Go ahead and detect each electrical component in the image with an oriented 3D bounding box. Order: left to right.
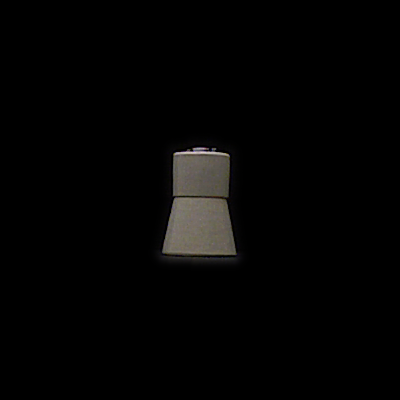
[{"bbox_3d":[0.000,0.000,0.651,0.044,0.065,0.044,2,0,0],"label":"electrical component"}]
